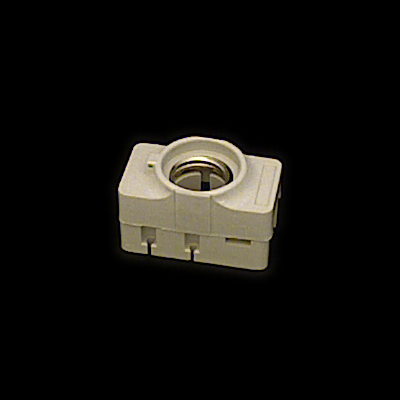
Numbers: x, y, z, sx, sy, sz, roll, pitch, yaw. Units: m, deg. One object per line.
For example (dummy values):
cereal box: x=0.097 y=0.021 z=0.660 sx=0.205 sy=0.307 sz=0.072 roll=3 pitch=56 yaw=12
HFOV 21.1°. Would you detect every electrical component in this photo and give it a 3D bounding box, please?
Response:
electrical component: x=0.000 y=0.000 z=0.640 sx=0.089 sy=0.056 sz=0.050 roll=7 pitch=43 yaw=7
